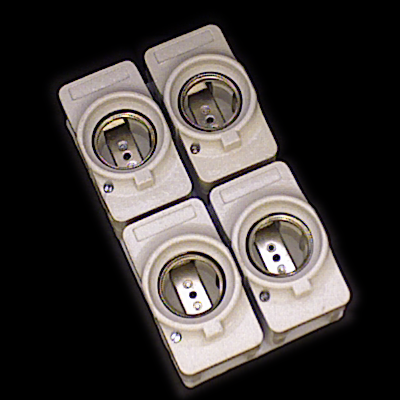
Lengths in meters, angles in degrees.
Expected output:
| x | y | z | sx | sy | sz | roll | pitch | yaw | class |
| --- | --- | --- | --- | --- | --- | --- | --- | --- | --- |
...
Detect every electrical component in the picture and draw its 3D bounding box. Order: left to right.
| x | y | z | sx | sy | sz | roll | pitch | yaw | class |
| --- | --- | --- | --- | --- | --- | --- | --- | --- | --- |
| 0.000 | 0.000 | 0.625 | 0.106 | 0.187 | 0.060 | -23 | -15 | -7 | electrical component |
